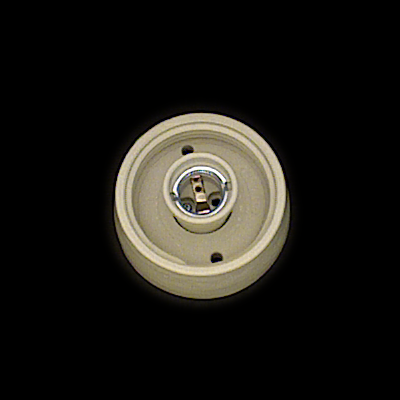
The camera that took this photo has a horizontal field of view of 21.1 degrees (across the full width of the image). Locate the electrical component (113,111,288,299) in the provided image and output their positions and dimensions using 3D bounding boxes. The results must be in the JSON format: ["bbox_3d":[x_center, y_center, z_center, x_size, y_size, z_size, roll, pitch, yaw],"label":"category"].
[{"bbox_3d":[0.000,0.000,0.633,0.108,0.108,0.060,0,-16,0],"label":"electrical component"}]
